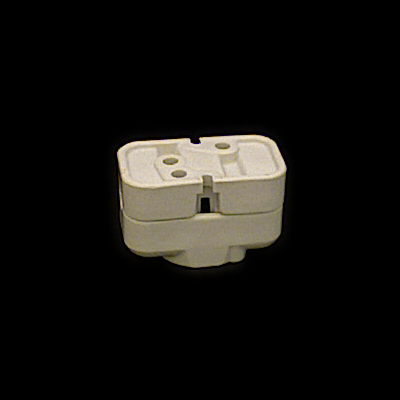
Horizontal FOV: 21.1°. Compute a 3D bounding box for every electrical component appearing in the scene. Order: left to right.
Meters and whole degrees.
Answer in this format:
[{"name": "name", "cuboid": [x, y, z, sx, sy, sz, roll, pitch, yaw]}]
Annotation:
[{"name": "electrical component", "cuboid": [0.000, 0.000, 0.640, 0.095, 0.060, 0.053, -4, 33, -9]}]
